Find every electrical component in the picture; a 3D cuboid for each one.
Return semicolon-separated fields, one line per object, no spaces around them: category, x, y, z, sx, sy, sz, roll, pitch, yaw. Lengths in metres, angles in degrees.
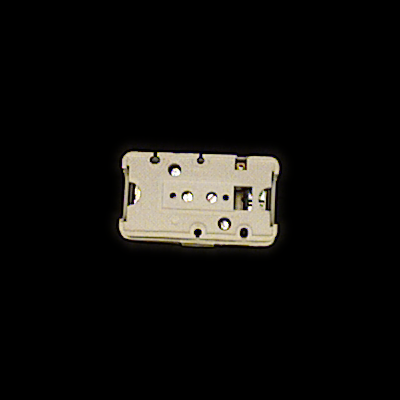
electrical component;0.000;0.000;0.638;0.089;0.050;0.055;2;-6;0
